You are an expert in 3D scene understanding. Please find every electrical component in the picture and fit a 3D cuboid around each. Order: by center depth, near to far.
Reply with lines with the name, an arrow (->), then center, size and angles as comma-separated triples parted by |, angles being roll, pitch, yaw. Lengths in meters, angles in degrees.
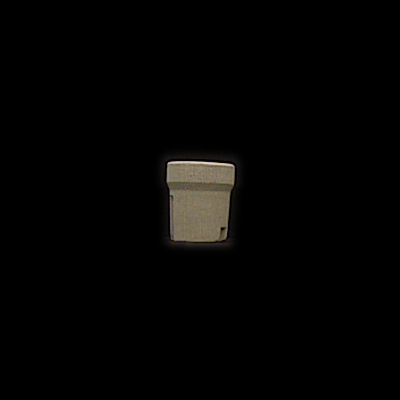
electrical component -> 0.000, 0.000, 0.649 | 0.040, 0.046, 0.040 | 1, 1, 0
